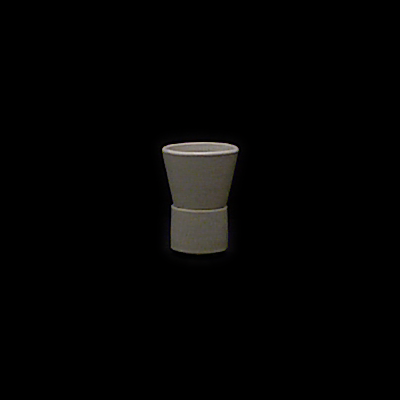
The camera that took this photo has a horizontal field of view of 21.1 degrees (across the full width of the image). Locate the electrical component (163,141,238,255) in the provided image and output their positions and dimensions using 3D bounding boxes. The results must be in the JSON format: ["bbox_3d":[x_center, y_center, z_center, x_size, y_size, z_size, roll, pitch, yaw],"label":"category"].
[{"bbox_3d":[0.000,0.000,0.641,0.044,0.066,0.044,1,12,0],"label":"electrical component"}]
